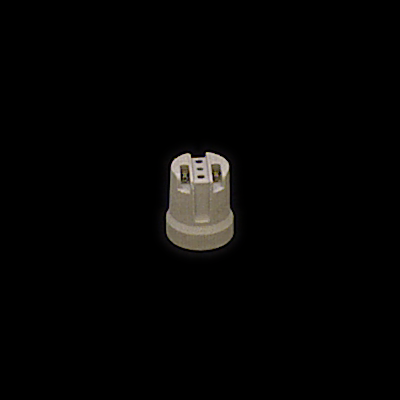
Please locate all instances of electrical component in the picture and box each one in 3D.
[{"bbox_3d":[0.000,0.000,0.637,0.040,0.046,0.040,0,32,0],"label":"electrical component"}]
